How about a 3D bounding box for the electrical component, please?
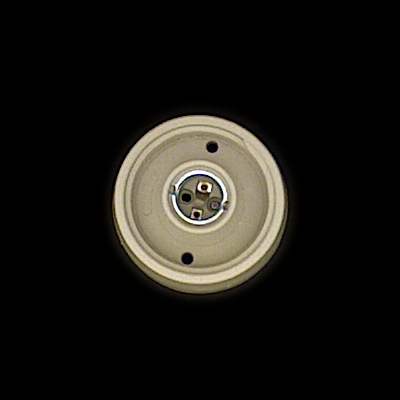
[{"bbox_3d":[0.000,0.000,0.635,0.108,0.108,0.060,0,-6,0],"label":"electrical component"}]
